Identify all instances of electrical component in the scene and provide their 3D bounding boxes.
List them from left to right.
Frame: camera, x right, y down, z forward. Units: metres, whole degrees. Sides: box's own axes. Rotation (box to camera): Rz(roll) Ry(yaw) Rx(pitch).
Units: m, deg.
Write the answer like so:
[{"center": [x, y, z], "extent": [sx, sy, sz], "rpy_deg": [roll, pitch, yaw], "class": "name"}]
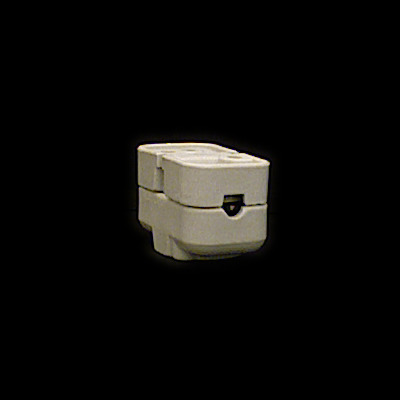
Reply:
[{"center": [0.000, 0.000, 0.649], "extent": [0.054, 0.060, 0.093], "rpy_deg": [-4, 13, -24], "class": "electrical component"}]
